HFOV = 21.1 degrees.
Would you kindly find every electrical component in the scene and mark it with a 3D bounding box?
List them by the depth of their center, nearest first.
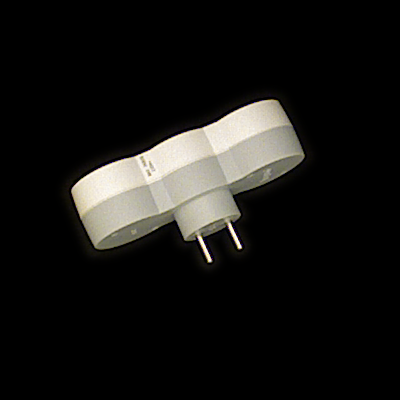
[{"bbox_3d":[0.000,0.000,0.637,0.139,0.074,0.052,-23,-13,-7],"label":"electrical component"}]
